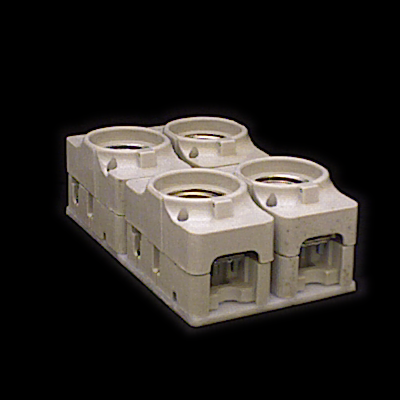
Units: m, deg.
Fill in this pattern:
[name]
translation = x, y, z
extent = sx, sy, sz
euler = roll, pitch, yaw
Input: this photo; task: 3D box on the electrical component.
[electrical component]
translation = 0.000, 0.000, 0.639
extent = 0.105, 0.061, 0.184
euler = -9, 23, -26
